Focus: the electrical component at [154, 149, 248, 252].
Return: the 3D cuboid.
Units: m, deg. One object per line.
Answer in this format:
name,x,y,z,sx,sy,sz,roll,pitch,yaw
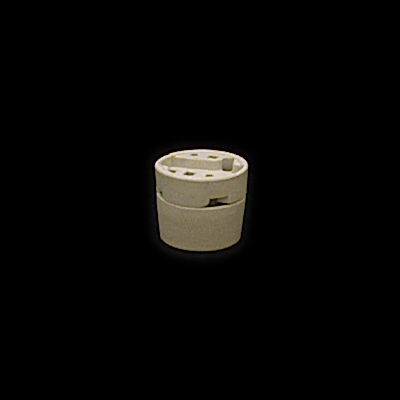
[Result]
electrical component,0.000,0.000,0.641,0.055,0.047,0.055,1,21,0
